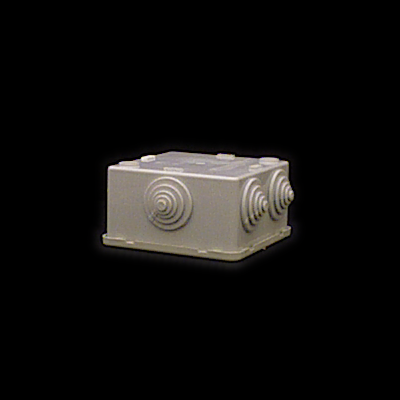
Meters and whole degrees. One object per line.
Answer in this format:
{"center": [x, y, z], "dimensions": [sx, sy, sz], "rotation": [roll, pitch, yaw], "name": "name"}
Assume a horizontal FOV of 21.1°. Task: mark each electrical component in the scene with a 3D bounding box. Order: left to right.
{"center": [0.000, 0.000, 0.646], "dimensions": [0.099, 0.049, 0.099], "rotation": [6, 12, 25], "name": "electrical component"}
